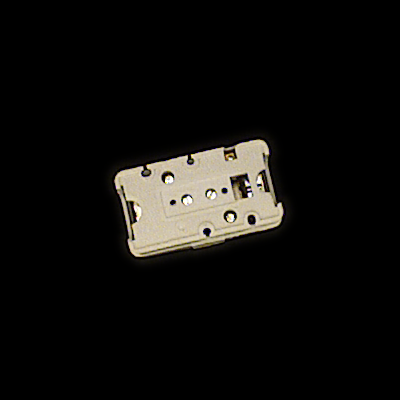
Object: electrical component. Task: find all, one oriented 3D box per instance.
[{"bbox_3d":[0.000,0.000,0.637,0.090,0.050,0.055,-13,-6,-2],"label":"electrical component"}]
